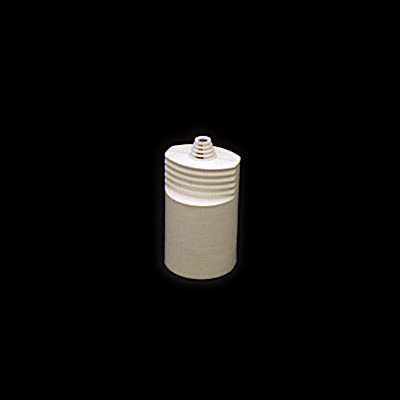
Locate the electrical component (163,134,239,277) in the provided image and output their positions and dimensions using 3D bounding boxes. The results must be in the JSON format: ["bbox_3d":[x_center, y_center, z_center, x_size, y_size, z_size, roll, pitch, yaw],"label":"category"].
[{"bbox_3d":[0.000,0.000,0.628,0.043,0.082,0.042,1,31,0],"label":"electrical component"}]
